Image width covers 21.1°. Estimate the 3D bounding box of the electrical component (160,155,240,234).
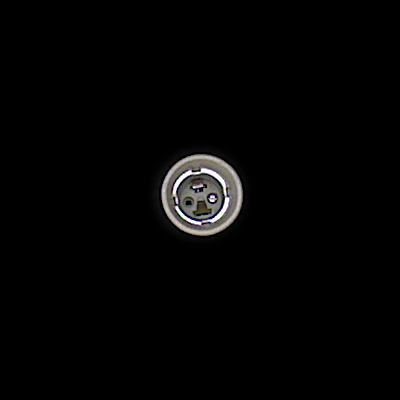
[{"bbox_3d":[0.000,0.000,0.625,0.044,0.044,0.065,0,-7,-1],"label":"electrical component"}]
